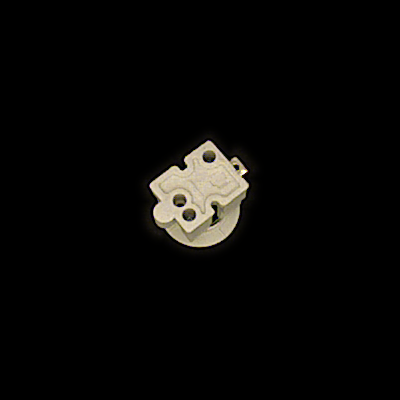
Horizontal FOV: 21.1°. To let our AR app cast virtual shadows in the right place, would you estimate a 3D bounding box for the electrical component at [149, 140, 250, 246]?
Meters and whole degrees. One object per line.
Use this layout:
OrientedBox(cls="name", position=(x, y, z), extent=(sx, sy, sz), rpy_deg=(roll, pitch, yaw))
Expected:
OrientedBox(cls="electrical component", position=(0.000, 0.000, 0.637), extent=(0.067, 0.048, 0.055), rpy_deg=(-37, -14, -11))
